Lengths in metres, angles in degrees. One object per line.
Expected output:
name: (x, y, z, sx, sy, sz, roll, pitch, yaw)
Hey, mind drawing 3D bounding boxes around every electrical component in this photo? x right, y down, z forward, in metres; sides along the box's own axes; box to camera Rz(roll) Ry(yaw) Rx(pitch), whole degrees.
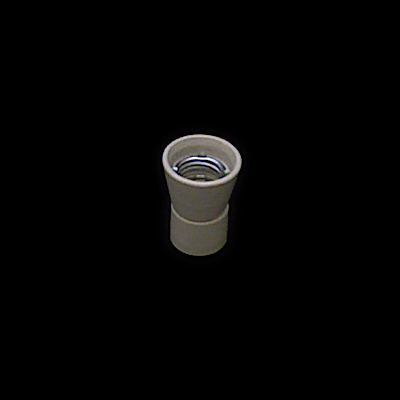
electrical component: (0.000, 0.000, 0.630, 0.044, 0.066, 0.044, 1, 42, -1)
